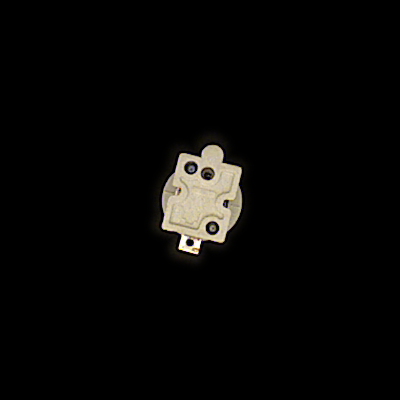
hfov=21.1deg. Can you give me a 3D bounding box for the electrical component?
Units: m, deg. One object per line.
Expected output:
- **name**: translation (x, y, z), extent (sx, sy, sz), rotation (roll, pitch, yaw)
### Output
- **electrical component**: translation (0.000, 0.000, 0.639), extent (0.048, 0.066, 0.055), rotation (14, -4, 1)
